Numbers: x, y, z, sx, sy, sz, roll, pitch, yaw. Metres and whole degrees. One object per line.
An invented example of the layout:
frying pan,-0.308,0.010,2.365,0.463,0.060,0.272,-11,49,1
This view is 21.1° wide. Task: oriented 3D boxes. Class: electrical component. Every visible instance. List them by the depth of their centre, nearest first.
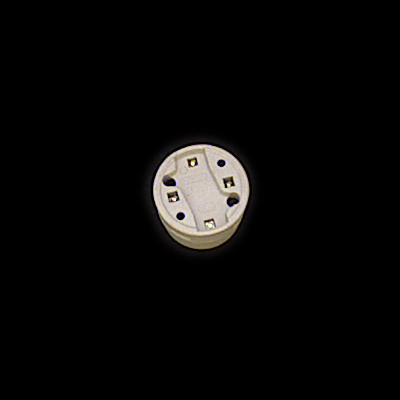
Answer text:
electrical component,0.000,0.000,0.635,0.055,0.056,0.047,0,-17,0
